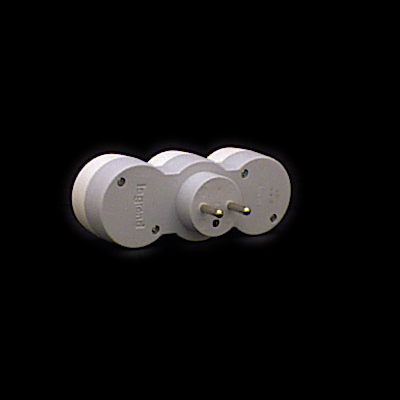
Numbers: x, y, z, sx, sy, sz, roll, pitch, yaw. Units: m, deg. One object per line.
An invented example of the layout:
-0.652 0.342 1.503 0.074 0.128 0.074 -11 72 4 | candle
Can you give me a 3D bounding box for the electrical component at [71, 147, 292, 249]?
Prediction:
0.000 0.000 0.647 0.138 0.052 0.073 -5 14 -33 | electrical component
